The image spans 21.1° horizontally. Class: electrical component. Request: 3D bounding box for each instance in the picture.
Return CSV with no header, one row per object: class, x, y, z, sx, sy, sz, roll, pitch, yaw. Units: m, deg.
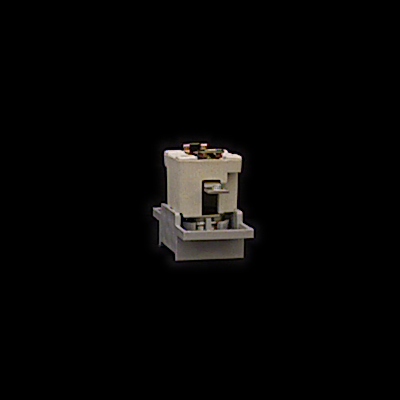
electrical component,0.000,0.000,0.644,0.042,0.064,0.080,-2,11,-15
